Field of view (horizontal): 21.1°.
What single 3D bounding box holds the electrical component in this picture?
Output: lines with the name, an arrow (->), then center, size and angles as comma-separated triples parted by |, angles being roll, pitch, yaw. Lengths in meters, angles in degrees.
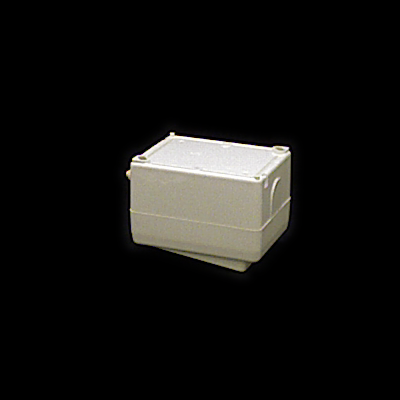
electrical component -> 0.000, 0.000, 0.639 | 0.095, 0.061, 0.061 | 9, 23, 19
